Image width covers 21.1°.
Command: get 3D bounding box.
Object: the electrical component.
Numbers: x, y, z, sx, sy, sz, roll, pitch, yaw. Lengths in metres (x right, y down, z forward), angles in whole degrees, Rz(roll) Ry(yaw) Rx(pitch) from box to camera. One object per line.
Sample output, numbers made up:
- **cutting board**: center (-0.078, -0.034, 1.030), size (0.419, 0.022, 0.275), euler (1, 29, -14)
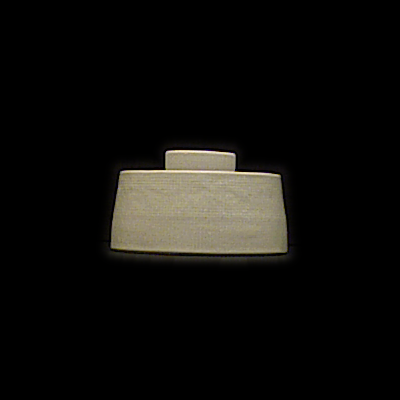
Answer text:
- **electrical component**: center (0.000, 0.000, 0.655), size (0.108, 0.060, 0.108), euler (1, 1, 1)
